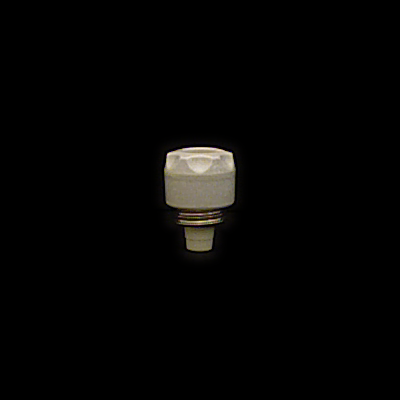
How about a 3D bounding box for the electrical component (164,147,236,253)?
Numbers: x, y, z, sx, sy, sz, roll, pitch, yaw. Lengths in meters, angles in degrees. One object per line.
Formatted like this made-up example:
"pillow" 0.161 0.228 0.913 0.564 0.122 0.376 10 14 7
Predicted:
"electrical component" 0.000 0.000 0.650 0.043 0.062 0.043 0 12 0
